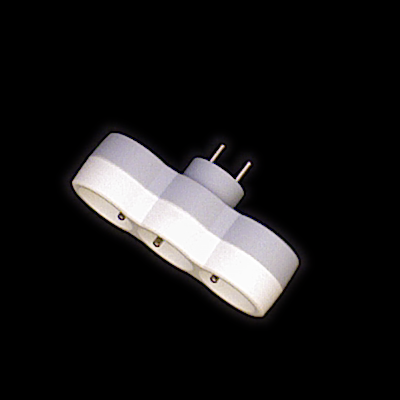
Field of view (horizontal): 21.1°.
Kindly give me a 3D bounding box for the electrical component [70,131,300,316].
[{"bbox_3d":[0.000,0.000,0.631,0.138,0.074,0.052,33,-16,10],"label":"electrical component"}]
